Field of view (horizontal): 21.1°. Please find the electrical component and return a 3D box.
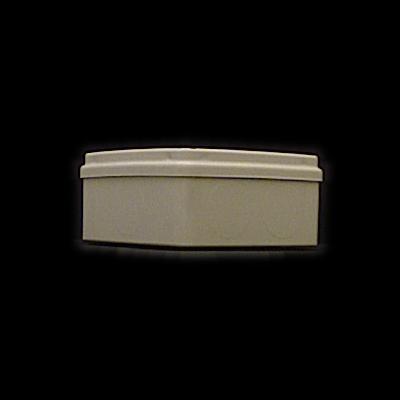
[{"bbox_3d":[0.000,0.000,0.648,0.109,0.056,0.108,1,0,-39],"label":"electrical component"}]
